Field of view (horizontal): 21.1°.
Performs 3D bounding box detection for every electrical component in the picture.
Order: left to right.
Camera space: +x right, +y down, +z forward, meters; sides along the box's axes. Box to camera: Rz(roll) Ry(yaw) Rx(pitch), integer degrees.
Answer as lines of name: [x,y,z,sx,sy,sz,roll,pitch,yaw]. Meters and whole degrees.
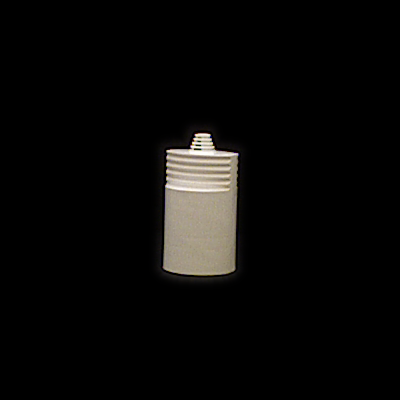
electrical component: [0.000,0.000,0.642,0.043,0.081,0.043,1,11,0]
